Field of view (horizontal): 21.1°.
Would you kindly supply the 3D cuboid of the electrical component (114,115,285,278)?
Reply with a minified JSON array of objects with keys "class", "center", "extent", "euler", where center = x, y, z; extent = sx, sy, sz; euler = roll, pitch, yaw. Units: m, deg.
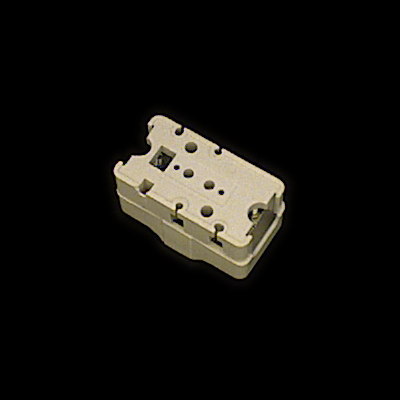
[{"class":"electrical component","center":[0.000,0.000,0.636],"extent":[0.089,0.050,0.055],"euler":[29,-22,14]}]
